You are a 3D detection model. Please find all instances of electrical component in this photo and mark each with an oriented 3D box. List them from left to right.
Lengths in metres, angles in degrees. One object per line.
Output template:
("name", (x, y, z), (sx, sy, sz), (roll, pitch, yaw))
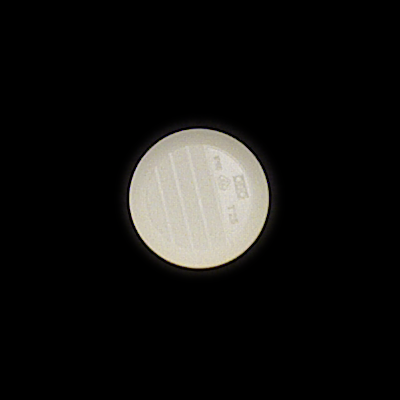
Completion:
("electrical component", (0.000, 0.000, 0.631), (0.080, 0.080, 0.050), (0, -7, 0))
